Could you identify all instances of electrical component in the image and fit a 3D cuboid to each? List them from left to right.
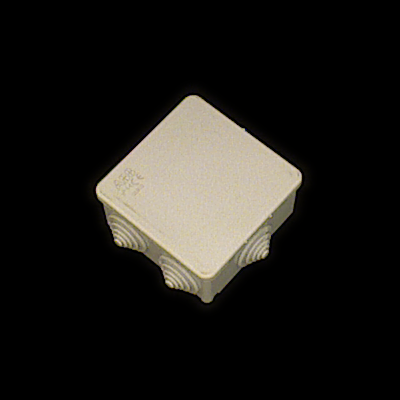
[{"bbox_3d":[0.000,0.000,0.639,0.099,0.100,0.048,38,-21,17],"label":"electrical component"}]
